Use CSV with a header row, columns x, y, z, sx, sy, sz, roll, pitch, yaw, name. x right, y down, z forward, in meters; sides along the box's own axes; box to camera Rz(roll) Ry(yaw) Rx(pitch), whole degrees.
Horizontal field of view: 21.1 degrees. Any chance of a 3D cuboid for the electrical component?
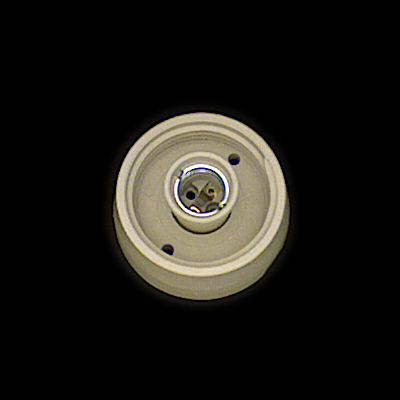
x,y,z,sx,sy,sz,roll,pitch,yaw,name
0.000,0.000,0.633,0.108,0.108,0.060,0,-16,0,electrical component
